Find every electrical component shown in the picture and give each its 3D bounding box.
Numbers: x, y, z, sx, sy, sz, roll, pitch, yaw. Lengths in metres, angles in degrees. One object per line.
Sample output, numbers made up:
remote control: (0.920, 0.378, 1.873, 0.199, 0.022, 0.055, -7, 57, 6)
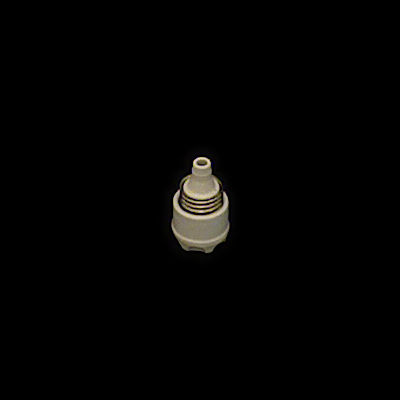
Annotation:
electrical component: (0.000, 0.000, 0.643, 0.035, 0.062, 0.035, 1, 42, -1)
